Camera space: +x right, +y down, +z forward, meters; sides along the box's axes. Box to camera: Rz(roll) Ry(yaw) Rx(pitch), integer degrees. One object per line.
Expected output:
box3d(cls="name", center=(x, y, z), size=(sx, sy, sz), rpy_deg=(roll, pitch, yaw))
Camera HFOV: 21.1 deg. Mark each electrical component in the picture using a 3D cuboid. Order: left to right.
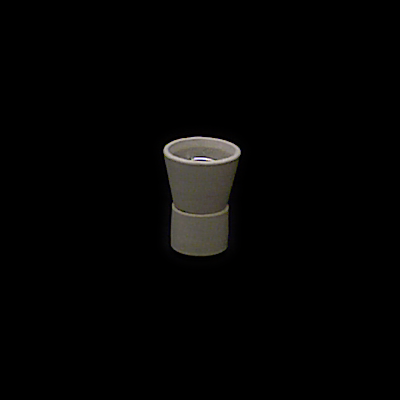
box3d(cls="electrical component", center=(0.000, 0.000, 0.636), size=(0.044, 0.066, 0.044), rpy_deg=(2, 22, -1))
